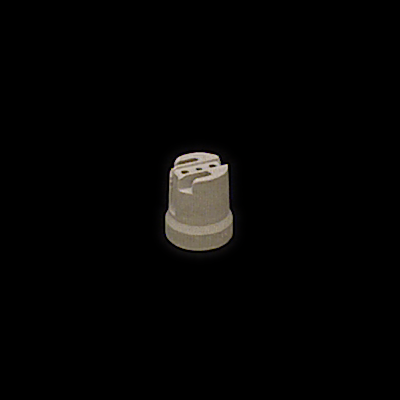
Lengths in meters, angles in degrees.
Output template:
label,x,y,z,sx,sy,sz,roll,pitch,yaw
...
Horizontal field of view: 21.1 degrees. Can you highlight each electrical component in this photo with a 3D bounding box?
label,x,y,z,sx,sy,sz,roll,pitch,yaw
electrical component,0.000,0.000,0.638,0.040,0.046,0.040,1,31,0
